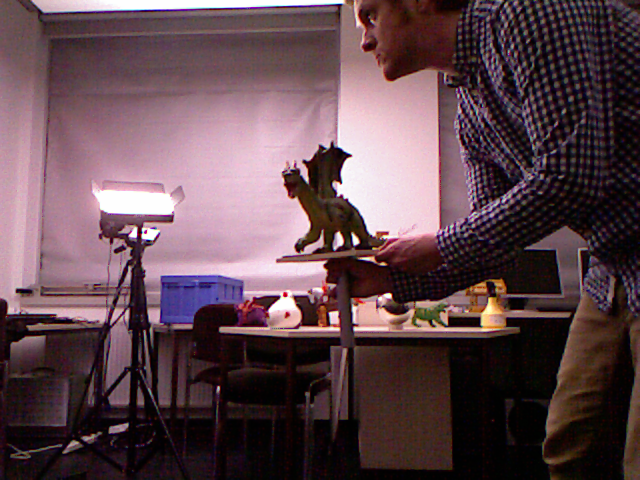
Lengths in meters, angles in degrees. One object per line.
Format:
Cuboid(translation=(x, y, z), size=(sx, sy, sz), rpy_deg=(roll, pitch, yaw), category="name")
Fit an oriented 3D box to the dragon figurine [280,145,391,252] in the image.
Cuboid(translation=(0.044, -0.093, 1.150), size=(0.122, 0.243, 0.411), rpy_deg=(-4, -1, 35), category="dragon figurine")
